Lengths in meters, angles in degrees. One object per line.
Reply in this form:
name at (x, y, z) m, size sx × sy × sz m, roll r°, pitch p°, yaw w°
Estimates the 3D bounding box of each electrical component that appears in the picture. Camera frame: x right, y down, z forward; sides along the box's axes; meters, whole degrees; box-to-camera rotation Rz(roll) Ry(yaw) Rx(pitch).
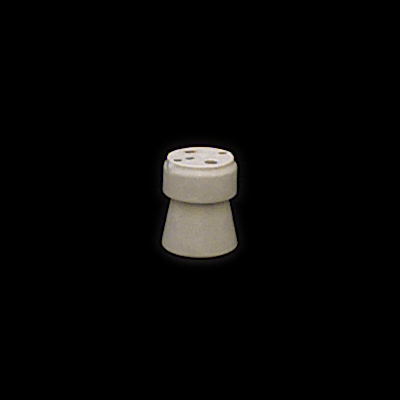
electrical component at (0.000, 0.000, 0.641) m, size 0.045 × 0.056 × 0.044 m, roll 1°, pitch 21°, yaw 0°
